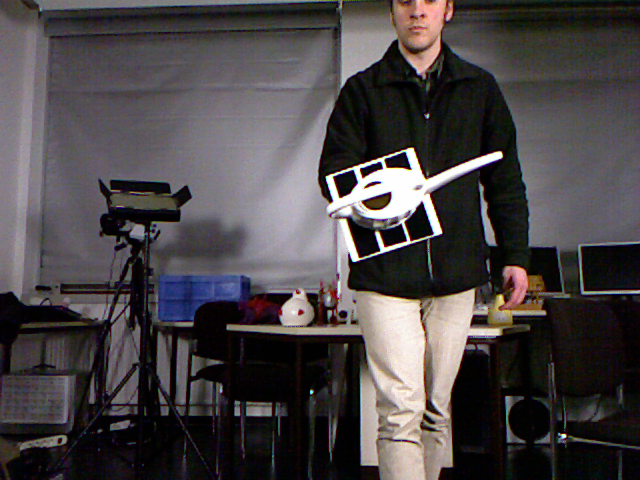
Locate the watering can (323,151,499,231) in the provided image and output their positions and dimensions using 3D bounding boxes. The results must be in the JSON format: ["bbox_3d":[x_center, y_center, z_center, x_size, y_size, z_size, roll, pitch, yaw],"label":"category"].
[{"bbox_3d":[0.176,-0.096,1.054,0.348,0.105,0.223,-15,-8,1],"label":"watering can"}]
